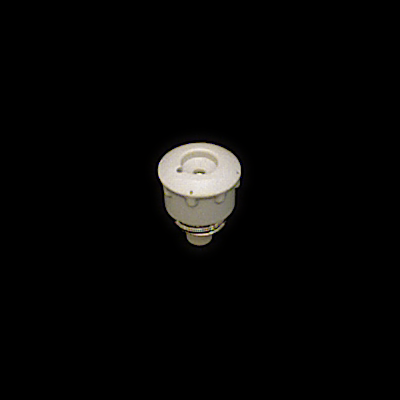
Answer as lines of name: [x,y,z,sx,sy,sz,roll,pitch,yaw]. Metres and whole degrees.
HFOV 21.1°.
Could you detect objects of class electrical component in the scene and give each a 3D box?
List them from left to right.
electrical component: [0.000,0.000,0.636,0.048,0.062,0.048,0,42,0]
